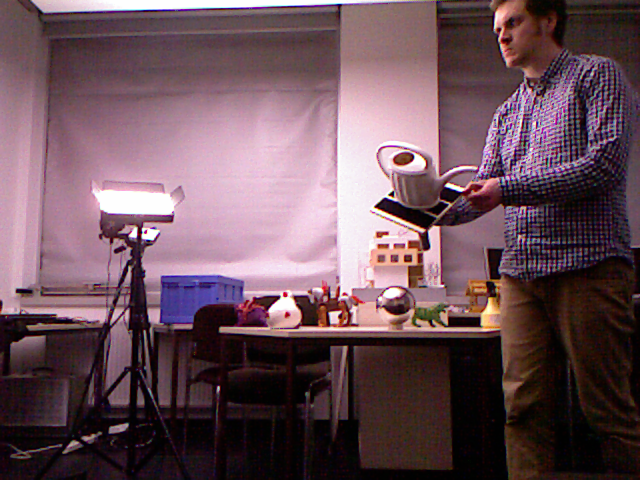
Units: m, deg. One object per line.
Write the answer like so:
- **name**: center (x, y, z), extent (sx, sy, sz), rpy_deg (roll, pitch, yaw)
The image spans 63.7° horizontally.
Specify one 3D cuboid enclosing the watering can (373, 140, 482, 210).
- **watering can**: center (0.296, -0.172, 1.449), extent (0.351, 0.105, 0.219), rpy_deg (25, -29, 38)
